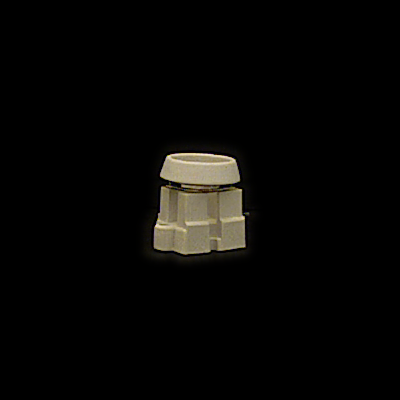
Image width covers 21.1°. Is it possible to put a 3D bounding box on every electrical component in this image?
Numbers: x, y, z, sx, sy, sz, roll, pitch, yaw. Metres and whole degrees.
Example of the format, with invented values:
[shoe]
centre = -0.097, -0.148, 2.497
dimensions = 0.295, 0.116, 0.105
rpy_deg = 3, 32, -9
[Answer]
[electrical component]
centre = 0.000, 0.000, 0.653
dimensions = 0.067, 0.056, 0.047
rpy_deg = -6, 16, -31
